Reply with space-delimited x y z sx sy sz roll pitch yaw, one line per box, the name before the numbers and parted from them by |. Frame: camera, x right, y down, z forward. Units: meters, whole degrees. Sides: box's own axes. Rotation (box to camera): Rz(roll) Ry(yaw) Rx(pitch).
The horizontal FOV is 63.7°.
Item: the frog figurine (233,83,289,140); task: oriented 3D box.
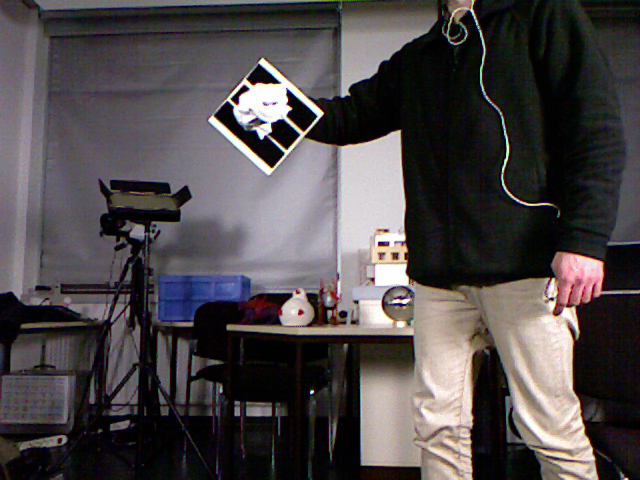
frog figurine | -0.141 -0.316 1.200 0.137 0.123 0.159 -28 -5 0
